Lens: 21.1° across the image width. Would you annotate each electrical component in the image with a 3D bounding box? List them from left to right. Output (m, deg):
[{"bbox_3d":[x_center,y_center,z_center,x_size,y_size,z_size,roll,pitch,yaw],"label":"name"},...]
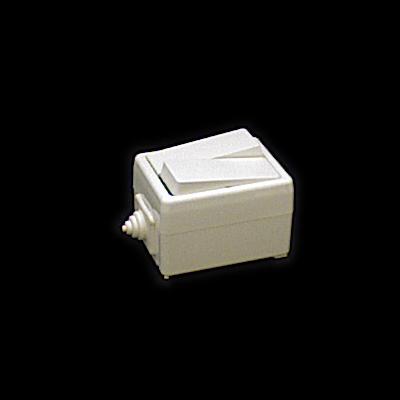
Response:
[{"bbox_3d":[0.000,0.000,0.633,0.096,0.061,0.061,-9,33,-17],"label":"electrical component"}]
